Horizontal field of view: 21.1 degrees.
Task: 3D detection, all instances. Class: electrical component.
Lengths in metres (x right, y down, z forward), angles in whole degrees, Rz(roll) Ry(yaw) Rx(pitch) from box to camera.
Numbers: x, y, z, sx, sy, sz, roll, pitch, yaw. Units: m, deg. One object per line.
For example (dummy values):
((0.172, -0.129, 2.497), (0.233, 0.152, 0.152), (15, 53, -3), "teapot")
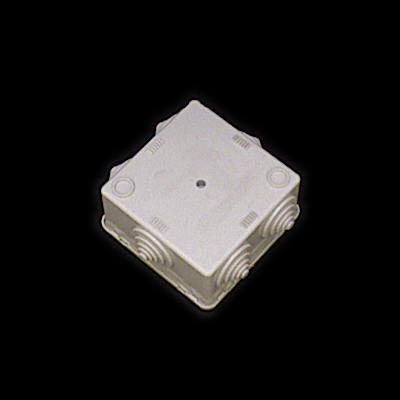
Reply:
((0.000, 0.000, 0.632), (0.099, 0.100, 0.048), (38, -21, 17), "electrical component")
